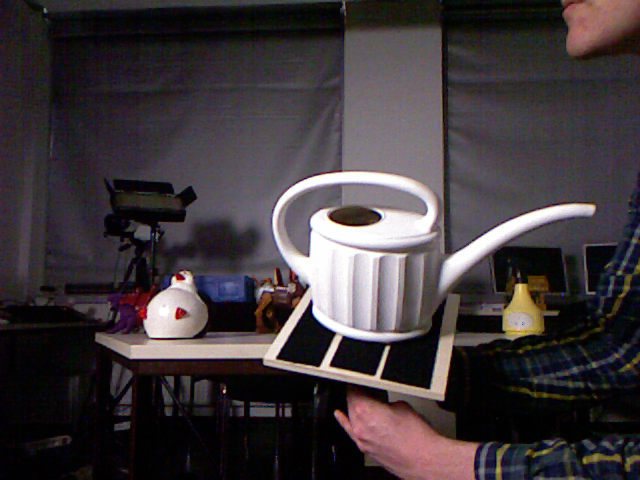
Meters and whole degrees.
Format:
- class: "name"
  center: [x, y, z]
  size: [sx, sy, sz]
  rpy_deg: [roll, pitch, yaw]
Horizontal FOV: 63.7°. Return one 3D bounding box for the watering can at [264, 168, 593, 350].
- class: "watering can"
  center: [0.103, 0.028, 0.590]
  size: [0.351, 0.221, 0.107]
  rpy_deg: [6, 31, 15]
